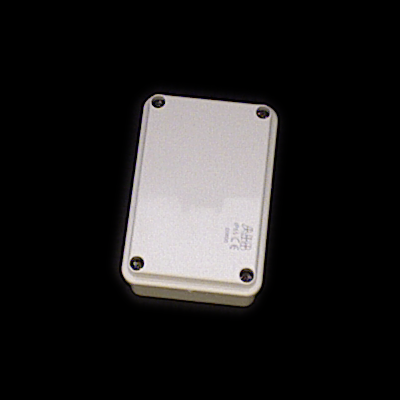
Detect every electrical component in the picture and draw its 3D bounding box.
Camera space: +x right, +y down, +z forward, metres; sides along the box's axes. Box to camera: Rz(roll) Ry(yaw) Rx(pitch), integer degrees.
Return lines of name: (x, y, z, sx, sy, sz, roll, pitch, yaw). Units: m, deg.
electrical component: (0.000, 0.000, 0.627, 0.078, 0.113, 0.057, 6, -17, 2)
